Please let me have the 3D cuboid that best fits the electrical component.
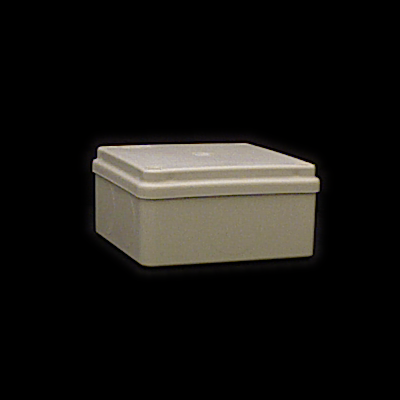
[{"bbox_3d":[0.000,0.000,0.644,0.109,0.056,0.108,-3,12,-21],"label":"electrical component"}]
